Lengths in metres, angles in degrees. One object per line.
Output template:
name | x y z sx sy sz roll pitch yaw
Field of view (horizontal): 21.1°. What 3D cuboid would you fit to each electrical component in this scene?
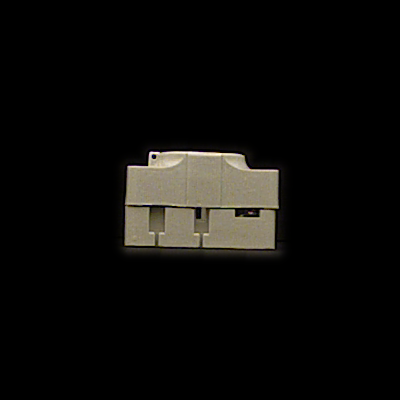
electrical component | 0.000 0.000 0.657 0.090 0.056 0.050 2 1 -6
